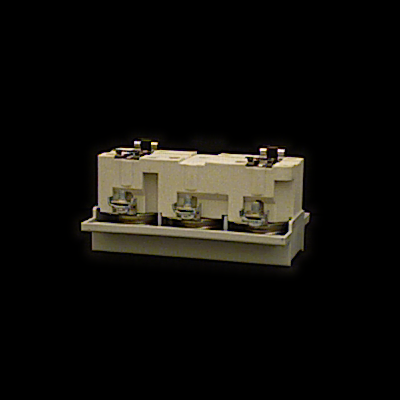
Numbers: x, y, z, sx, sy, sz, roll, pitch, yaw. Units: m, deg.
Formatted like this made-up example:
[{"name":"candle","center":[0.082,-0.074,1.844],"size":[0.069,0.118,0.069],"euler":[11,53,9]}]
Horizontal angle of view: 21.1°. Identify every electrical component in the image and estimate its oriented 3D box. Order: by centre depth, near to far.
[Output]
[{"name":"electrical component","center":[0.000,0.000,0.648],"size":[0.121,0.063,0.078],"euler":[4,12,14]}]
